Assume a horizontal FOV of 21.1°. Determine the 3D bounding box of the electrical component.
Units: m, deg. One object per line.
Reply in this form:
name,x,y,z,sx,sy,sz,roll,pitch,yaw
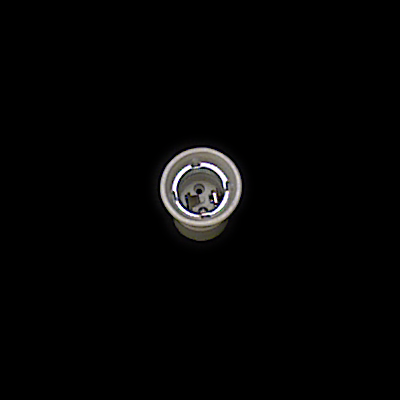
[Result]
electrical component,0.000,0.000,0.623,0.044,0.044,0.065,0,-16,0
